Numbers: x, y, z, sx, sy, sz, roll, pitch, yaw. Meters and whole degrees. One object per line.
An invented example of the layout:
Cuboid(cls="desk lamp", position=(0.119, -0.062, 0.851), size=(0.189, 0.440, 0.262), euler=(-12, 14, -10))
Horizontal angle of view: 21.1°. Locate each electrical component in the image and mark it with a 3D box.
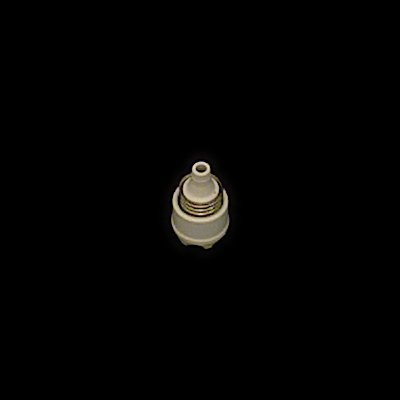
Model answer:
Cuboid(cls="electrical component", position=(0.000, 0.000, 0.640), size=(0.035, 0.035, 0.062), euler=(0, -38, -2))
